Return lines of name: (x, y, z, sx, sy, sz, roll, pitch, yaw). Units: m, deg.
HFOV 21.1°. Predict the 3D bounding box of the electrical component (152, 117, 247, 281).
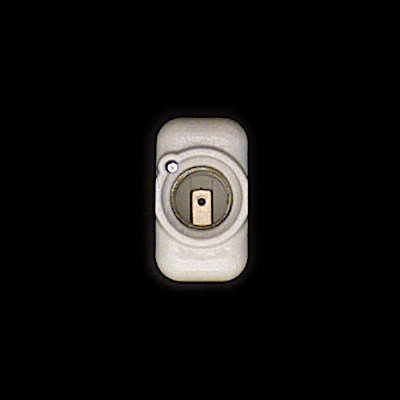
electrical component: (0.000, 0.000, 0.635, 0.054, 0.095, 0.059, -1, -6, 0)
